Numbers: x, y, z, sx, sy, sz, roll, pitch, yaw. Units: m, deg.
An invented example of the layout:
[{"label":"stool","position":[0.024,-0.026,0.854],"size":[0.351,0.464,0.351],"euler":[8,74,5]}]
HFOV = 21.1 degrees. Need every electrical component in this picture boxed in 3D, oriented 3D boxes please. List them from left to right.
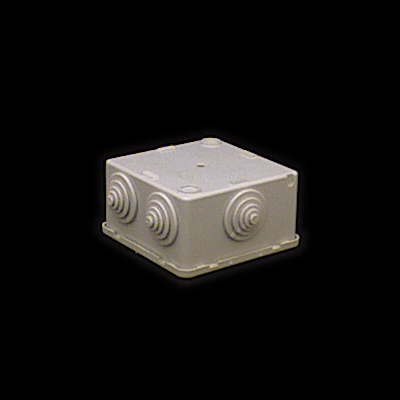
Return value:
[{"label":"electrical component","position":[0.000,0.000,0.640],"size":[0.099,0.049,0.098],"euler":[-14,26,-35]}]
